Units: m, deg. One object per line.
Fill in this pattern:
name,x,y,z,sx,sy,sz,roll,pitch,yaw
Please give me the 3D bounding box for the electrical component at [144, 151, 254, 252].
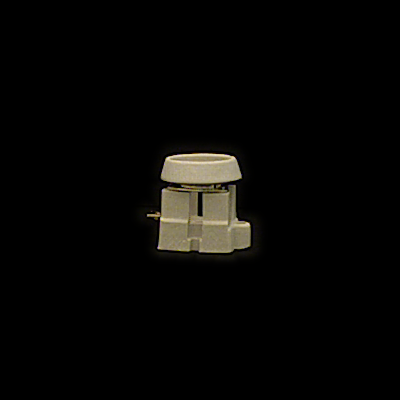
electrical component,0.000,0.000,0.650,0.066,0.056,0.048,3,10,8
